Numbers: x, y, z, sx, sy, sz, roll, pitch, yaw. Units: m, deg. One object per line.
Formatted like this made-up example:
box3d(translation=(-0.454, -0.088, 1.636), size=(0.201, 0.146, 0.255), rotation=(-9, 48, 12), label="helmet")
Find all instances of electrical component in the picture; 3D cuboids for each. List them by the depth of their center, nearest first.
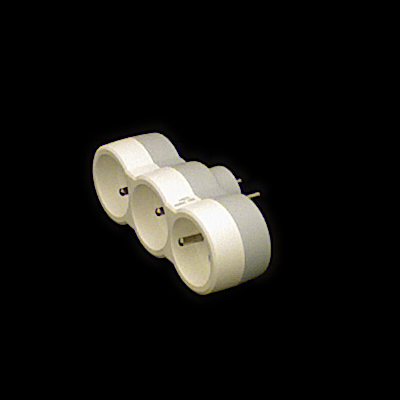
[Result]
box3d(translation=(0.000, 0.000, 0.644), size=(0.074, 0.053, 0.136), rotation=(-18, 37, -30), label="electrical component")
